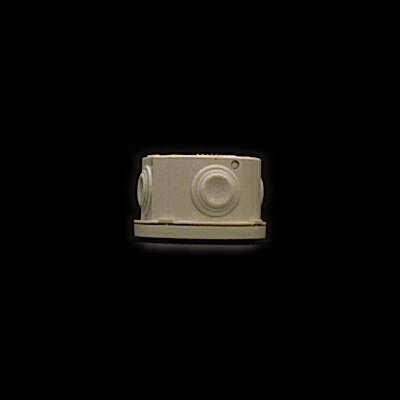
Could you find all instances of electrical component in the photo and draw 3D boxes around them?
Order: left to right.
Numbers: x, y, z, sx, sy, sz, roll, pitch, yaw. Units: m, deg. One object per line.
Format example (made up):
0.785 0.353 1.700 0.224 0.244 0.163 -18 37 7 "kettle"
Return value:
0.000 0.000 0.650 0.080 0.051 0.080 1 0 0 "electrical component"
